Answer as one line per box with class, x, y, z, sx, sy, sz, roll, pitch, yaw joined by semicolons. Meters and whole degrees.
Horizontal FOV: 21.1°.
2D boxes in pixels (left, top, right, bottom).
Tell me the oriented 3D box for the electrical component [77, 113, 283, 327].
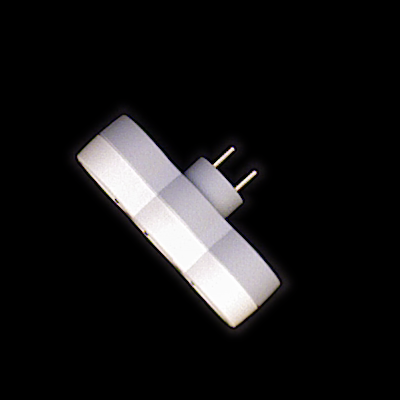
electrical component;0.000;0.000;0.632;0.074;0.138;0.052;-43;-6;-6
